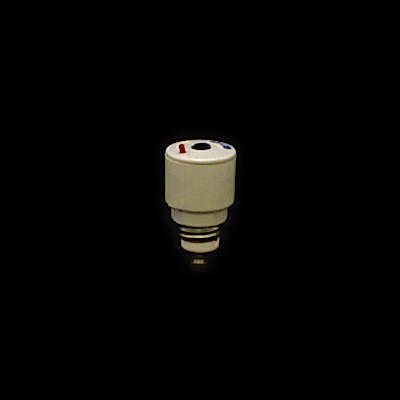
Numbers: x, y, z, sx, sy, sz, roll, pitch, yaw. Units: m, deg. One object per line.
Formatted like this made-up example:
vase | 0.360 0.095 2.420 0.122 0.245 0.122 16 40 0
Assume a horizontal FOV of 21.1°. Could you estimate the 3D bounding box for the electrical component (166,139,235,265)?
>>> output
electrical component | 0.000 0.000 0.634 0.040 0.079 0.039 1 22 0
